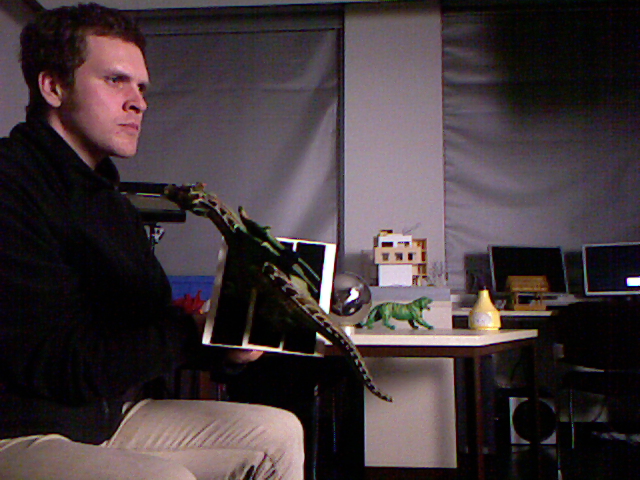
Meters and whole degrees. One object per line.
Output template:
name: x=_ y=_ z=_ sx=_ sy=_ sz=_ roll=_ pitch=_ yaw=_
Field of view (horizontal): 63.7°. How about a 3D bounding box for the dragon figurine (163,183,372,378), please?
dragon figurine: x=-0.064 y=0.054 z=0.762 sx=0.414 sy=0.124 sz=0.240 roll=38 pitch=-15 yaw=10
